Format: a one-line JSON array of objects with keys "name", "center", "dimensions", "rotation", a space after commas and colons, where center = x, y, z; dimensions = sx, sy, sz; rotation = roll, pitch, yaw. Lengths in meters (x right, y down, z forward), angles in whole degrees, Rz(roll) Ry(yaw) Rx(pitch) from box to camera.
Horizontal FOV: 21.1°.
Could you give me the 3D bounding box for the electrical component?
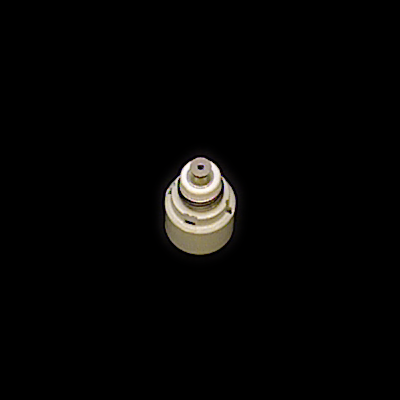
[{"name": "electrical component", "center": [0.000, 0.000, 0.619], "dimensions": [0.040, 0.040, 0.078], "rotation": [0, -27, -1]}]
